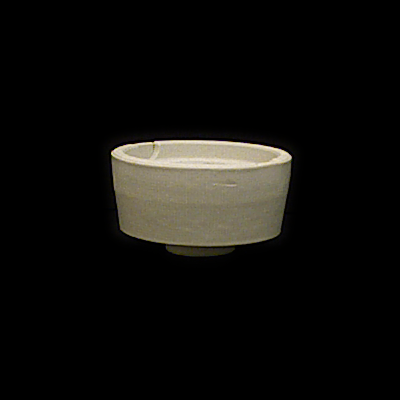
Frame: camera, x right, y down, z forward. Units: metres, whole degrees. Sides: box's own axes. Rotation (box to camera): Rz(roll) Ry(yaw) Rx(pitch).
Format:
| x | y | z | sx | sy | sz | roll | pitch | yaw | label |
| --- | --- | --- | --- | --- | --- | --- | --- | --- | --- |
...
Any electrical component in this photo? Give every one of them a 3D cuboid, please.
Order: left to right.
| x | y | z | sx | sy | sz | roll | pitch | yaw | label |
| --- | --- | --- | --- | --- | --- | --- | --- | --- | --- |
| 0.000 | 0.000 | 0.651 | 0.108 | 0.061 | 0.107 | 2 | 11 | 0 | electrical component |
